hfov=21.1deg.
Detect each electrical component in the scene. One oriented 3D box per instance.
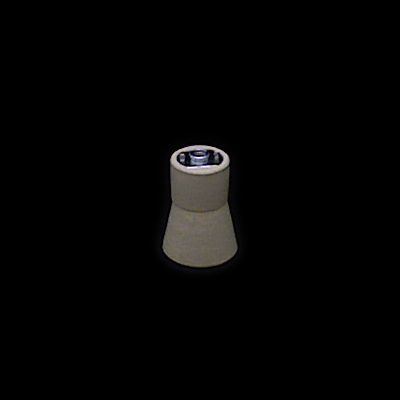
[{"bbox_3d":[0.000,0.000,0.635,0.044,0.066,0.044,0,31,0],"label":"electrical component"}]
